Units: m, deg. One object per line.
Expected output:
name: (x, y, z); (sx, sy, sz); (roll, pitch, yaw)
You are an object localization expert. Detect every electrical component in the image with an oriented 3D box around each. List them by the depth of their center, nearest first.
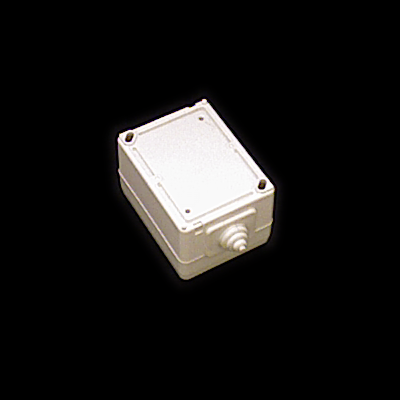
electrical component: (0.000, 0.000, 0.627); (0.062, 0.096, 0.061); (-24, -33, -18)
